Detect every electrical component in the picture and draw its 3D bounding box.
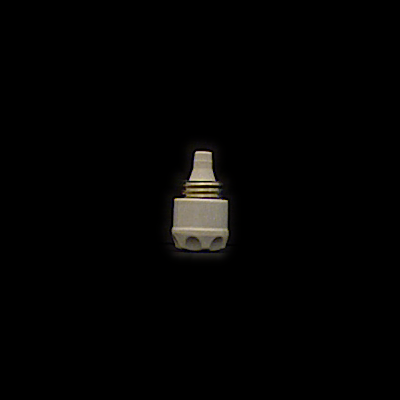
[{"bbox_3d":[0.000,0.000,0.663,0.035,0.061,0.035,3,2,0],"label":"electrical component"}]
